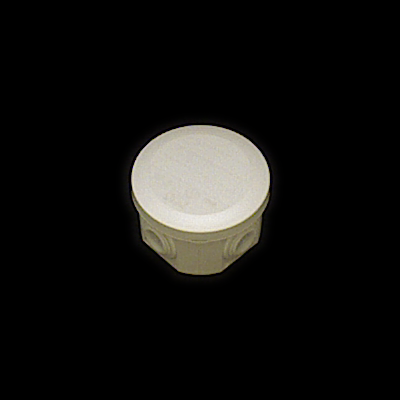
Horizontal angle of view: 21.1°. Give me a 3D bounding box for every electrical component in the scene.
[{"bbox_3d":[0.000,0.000,0.632,0.080,0.080,0.051,0,-38,0],"label":"electrical component"}]
